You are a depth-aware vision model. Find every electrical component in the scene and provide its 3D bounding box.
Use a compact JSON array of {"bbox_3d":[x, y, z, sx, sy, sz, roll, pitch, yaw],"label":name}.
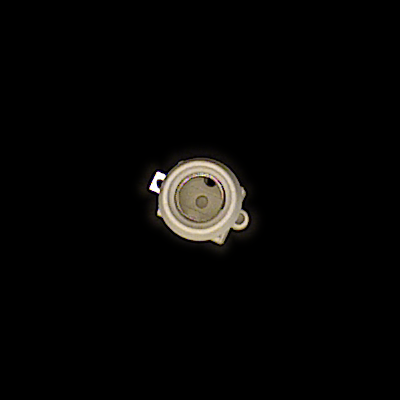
[{"bbox_3d":[0.000,0.000,0.639,0.066,0.048,0.055,23,-7,3],"label":"electrical component"}]
